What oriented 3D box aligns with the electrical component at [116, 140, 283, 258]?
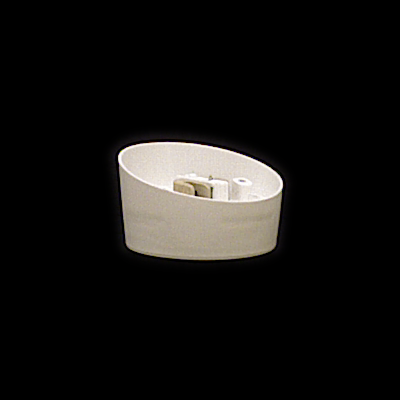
[{"bbox_3d":[0.000,0.000,0.644,0.099,0.064,0.098,0,10,0],"label":"electrical component"}]
